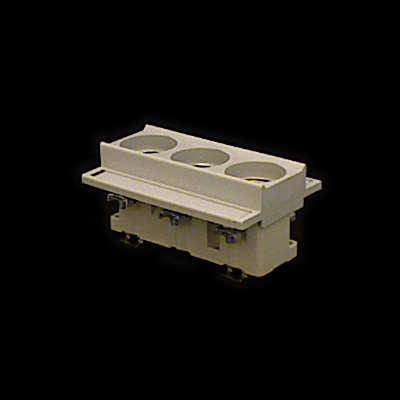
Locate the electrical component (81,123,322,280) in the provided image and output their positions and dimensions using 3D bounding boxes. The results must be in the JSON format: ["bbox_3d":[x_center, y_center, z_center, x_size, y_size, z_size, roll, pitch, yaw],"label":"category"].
[{"bbox_3d":[0.000,0.000,0.650,0.120,0.064,0.078,17,28,35],"label":"electrical component"}]
